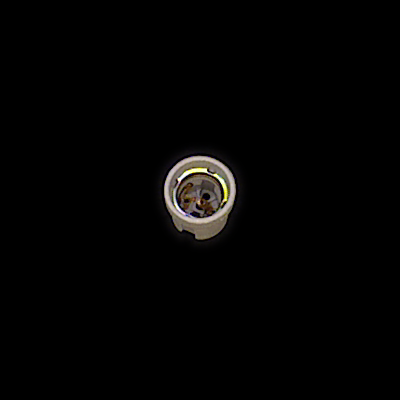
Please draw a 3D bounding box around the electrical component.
[{"bbox_3d":[0.000,0.000,0.628,0.040,0.040,0.046,0,-17,-1],"label":"electrical component"}]
